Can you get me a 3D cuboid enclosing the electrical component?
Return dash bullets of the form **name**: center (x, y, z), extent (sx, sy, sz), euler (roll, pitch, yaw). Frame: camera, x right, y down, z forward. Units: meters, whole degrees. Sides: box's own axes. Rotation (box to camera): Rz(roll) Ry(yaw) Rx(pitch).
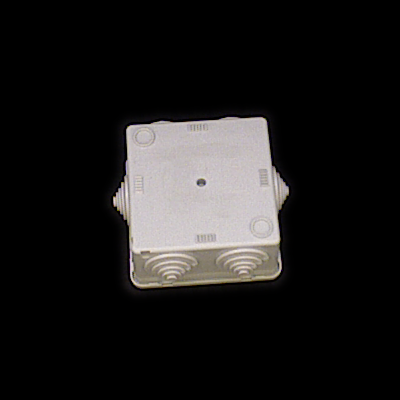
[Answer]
- **electrical component**: center (0.000, 0.000, 0.631), extent (0.100, 0.100, 0.048), euler (-3, -27, -2)
